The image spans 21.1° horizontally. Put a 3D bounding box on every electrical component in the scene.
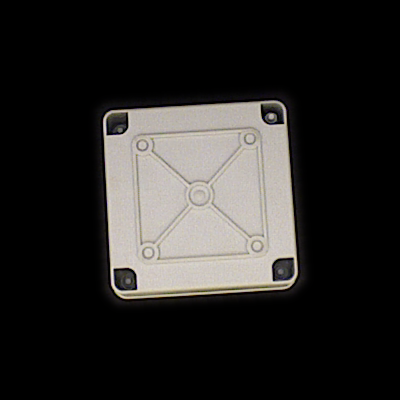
[{"bbox_3d":[0.000,0.000,0.629,0.109,0.109,0.056,-3,-7,-1],"label":"electrical component"}]
